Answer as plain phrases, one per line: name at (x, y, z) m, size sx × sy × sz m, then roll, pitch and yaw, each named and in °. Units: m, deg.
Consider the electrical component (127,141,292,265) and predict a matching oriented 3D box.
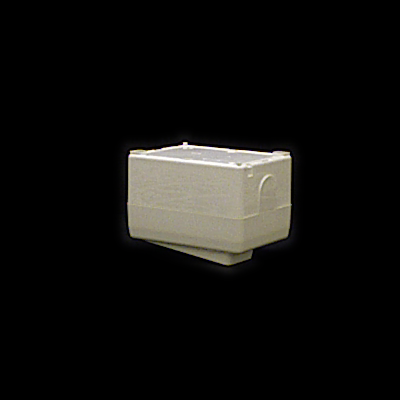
electrical component at (0.000, 0.000, 0.647) m, size 0.095 × 0.061 × 0.062 m, roll 8°, pitch 13°, yaw 32°
